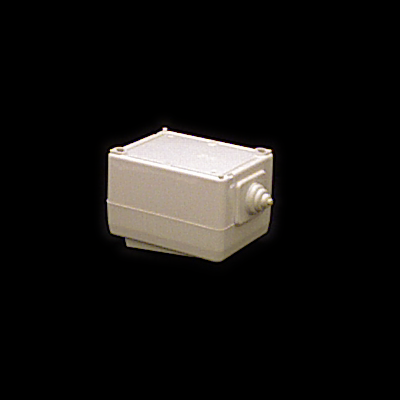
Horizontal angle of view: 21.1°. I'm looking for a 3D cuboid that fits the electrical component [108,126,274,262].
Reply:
[{"bbox_3d":[0.000,0.000,0.637,0.096,0.061,0.061,14,24,29],"label":"electrical component"}]
